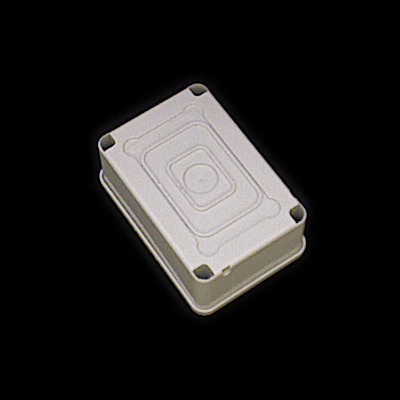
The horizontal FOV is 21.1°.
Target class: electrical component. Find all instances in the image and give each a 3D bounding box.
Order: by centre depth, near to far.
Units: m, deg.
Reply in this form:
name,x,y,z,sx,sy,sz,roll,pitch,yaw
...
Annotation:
name,x,y,z,sx,sy,sz,roll,pitch,yaw
electrical component,0.000,0.000,0.628,0.078,0.113,0.057,-31,-23,-15
